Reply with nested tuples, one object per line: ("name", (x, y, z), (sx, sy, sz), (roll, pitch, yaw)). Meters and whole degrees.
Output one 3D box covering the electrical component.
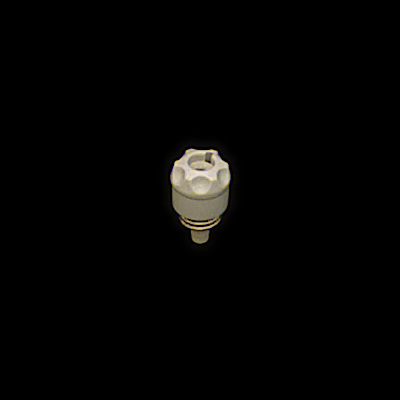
("electrical component", (0.000, 0.000, 0.639), (0.035, 0.062, 0.035), (1, 42, 0))
